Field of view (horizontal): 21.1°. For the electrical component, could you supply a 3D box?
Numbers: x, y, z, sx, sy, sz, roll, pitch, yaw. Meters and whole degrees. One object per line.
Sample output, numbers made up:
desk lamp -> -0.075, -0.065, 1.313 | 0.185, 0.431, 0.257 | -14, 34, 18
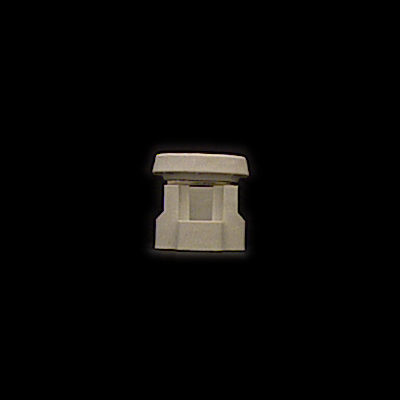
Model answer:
electrical component -> 0.000, 0.000, 0.651 | 0.058, 0.057, 0.078 | 1, 0, 0
